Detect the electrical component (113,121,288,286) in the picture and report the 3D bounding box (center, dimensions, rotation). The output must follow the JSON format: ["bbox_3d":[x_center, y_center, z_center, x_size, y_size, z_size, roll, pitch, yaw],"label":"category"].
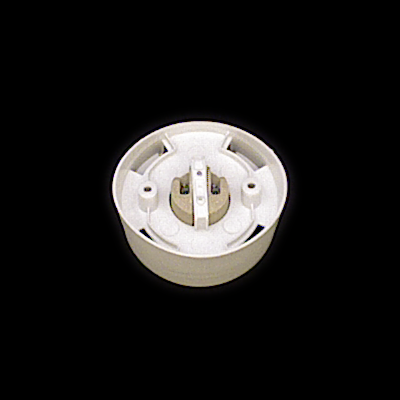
[{"bbox_3d":[0.000,0.000,0.624,0.099,0.099,0.064,0,-27,-1],"label":"electrical component"}]
